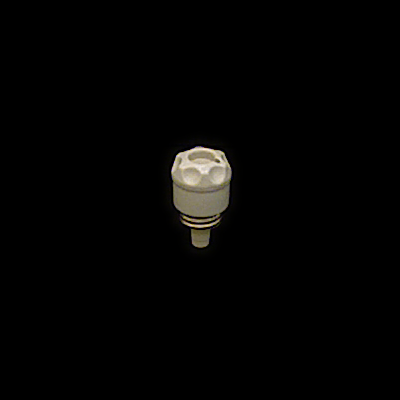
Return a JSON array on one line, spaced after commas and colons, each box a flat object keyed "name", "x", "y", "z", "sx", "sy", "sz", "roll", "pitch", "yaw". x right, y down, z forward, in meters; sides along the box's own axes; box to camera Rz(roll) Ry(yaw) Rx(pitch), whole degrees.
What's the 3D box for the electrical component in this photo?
[{"name": "electrical component", "x": 0.000, "y": 0.000, "z": 0.640, "sx": 0.035, "sy": 0.062, "sz": 0.035, "roll": 1, "pitch": 33, "yaw": 0}]
